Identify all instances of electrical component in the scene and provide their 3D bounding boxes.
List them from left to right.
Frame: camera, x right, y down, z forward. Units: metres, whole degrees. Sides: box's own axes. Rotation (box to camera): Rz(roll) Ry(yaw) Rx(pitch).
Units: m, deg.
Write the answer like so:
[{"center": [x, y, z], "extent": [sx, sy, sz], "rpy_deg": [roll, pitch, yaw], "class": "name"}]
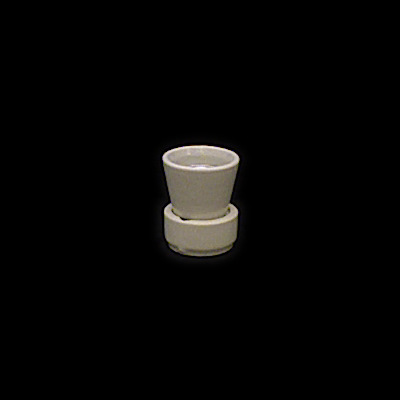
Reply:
[{"center": [0.000, 0.000, 0.638], "extent": [0.045, 0.056, 0.044], "rpy_deg": [1, 21, 0], "class": "electrical component"}]
